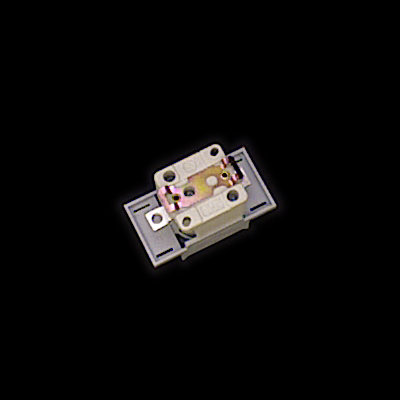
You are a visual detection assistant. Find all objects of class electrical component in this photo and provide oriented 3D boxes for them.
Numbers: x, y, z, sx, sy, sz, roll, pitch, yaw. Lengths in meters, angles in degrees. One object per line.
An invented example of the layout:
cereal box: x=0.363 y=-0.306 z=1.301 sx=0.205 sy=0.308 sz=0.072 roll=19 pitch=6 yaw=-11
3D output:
electrical component: x=0.000 y=0.000 z=0.625 sx=0.081 sy=0.042 sz=0.063 roll=-27 pitch=-15 yaw=-8
